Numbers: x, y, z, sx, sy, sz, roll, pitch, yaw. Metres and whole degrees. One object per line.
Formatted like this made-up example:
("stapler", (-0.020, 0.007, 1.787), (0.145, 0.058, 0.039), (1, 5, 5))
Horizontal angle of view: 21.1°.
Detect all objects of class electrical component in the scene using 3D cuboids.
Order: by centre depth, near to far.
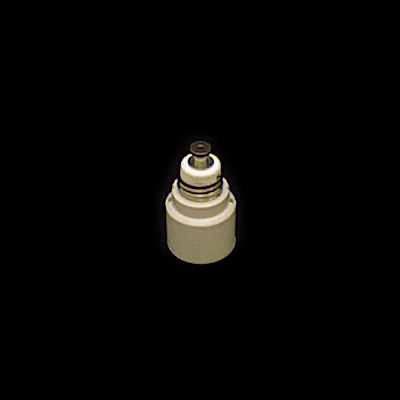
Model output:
("electrical component", (0.000, 0.000, 0.624), (0.040, 0.079, 0.039), (0, 42, 0))
